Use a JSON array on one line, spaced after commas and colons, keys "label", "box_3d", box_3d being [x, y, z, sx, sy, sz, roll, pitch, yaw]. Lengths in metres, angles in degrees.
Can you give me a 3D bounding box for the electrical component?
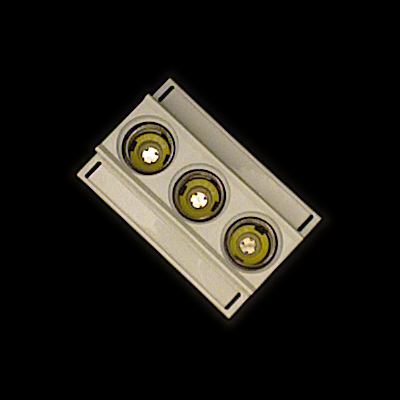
[{"label": "electrical component", "box_3d": [0.000, 0.000, 0.637, 0.121, 0.079, 0.063, 43, -5, 4]}]
